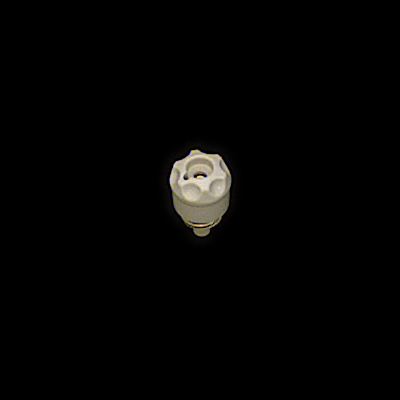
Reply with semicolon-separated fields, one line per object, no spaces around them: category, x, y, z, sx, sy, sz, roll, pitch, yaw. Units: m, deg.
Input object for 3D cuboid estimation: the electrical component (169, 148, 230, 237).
electrical component;0.000;0.000;0.635;0.035;0.035;0.061;0;-37;1
